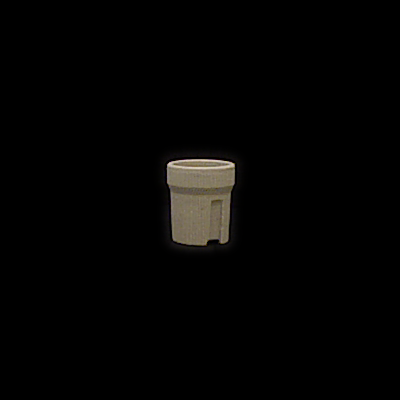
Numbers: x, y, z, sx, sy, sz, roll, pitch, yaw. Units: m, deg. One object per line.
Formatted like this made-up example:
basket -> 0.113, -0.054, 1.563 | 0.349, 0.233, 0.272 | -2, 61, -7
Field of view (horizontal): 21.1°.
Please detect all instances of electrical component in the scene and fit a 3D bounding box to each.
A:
electrical component -> 0.000, 0.000, 0.646 | 0.040, 0.046, 0.040 | 1, 11, 0
